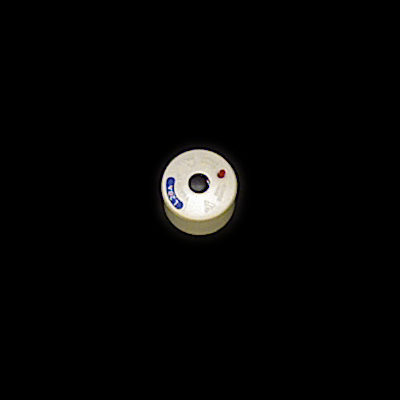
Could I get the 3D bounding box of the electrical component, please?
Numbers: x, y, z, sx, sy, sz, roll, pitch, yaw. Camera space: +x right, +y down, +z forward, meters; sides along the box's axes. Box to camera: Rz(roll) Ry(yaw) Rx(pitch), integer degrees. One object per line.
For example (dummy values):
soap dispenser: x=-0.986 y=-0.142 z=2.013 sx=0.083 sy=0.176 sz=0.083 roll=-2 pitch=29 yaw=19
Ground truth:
electrical component: x=0.000 y=0.000 z=0.617 sx=0.040 sy=0.040 sz=0.078 roll=0 pitch=-17 yaw=-1
